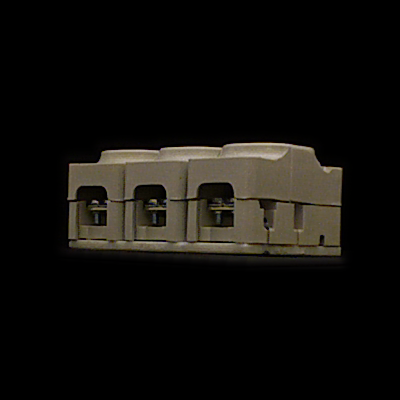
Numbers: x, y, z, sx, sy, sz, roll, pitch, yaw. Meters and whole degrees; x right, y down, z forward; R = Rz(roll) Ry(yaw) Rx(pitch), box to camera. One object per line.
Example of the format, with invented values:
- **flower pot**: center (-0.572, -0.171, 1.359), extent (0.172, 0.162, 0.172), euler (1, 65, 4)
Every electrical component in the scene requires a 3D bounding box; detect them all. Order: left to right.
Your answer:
- **electrical component**: center (0.000, 0.000, 0.658), extent (0.150, 0.062, 0.090), euler (1, -1, 42)
